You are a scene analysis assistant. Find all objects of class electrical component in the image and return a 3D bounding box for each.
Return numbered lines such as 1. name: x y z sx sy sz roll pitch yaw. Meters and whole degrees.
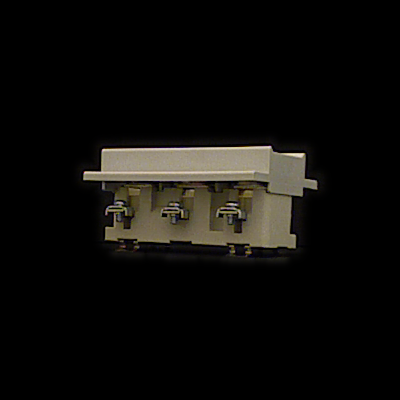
1. electrical component: 0.000 0.000 0.664 0.121 0.063 0.079 1 0 33
